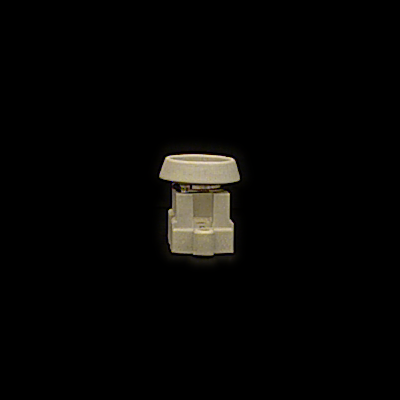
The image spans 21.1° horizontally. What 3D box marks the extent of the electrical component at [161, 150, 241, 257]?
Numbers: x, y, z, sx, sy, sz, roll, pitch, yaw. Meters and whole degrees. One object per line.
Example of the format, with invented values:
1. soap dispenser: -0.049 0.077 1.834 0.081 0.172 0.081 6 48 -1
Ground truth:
1. electrical component: 0.000 0.000 0.652 0.048 0.056 0.066 2 11 -7
